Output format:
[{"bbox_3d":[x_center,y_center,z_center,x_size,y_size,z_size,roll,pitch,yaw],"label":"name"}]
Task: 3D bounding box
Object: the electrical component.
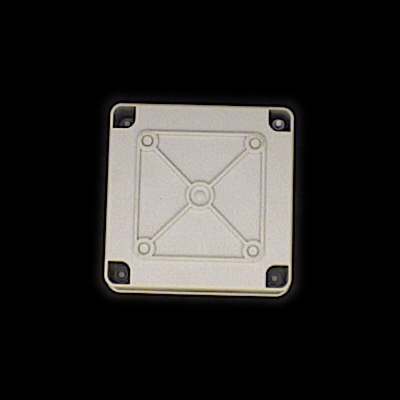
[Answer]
[{"bbox_3d":[0.000,0.000,0.629,0.109,0.109,0.056,2,-7,0],"label":"electrical component"}]
